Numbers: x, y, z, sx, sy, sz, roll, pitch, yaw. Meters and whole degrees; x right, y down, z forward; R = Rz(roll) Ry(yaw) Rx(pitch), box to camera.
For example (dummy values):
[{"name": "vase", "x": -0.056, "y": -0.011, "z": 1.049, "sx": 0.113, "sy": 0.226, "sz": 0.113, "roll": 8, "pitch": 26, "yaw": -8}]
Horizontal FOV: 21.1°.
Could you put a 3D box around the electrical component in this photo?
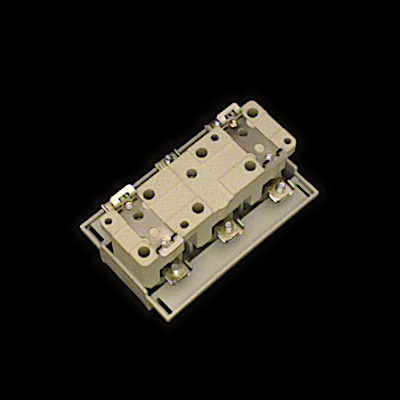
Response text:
[{"name": "electrical component", "x": 0.000, "y": 0.000, "z": 0.633, "sx": 0.122, "sy": 0.078, "sz": 0.063, "roll": -39, "pitch": -20, "yaw": -18}]
